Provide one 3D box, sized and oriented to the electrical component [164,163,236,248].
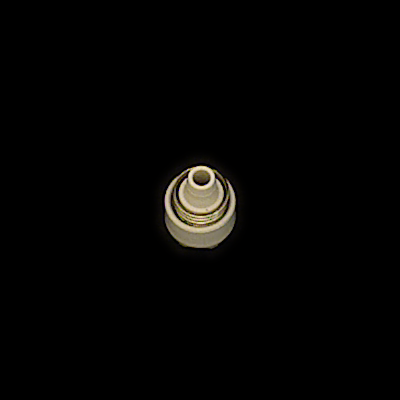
[{"bbox_3d":[0.000,0.000,0.634,0.043,0.043,0.062,0,-26,-1],"label":"electrical component"}]
